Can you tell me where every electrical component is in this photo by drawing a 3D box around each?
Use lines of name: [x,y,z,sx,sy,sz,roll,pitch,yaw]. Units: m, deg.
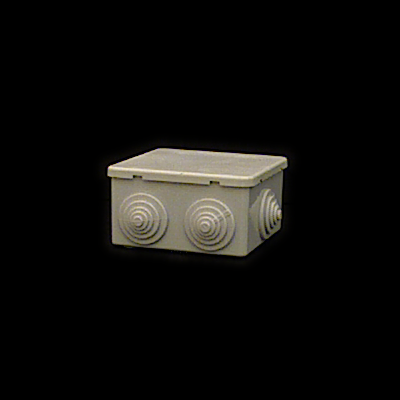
electrical component: [0.000,0.000,0.653,0.099,0.049,0.099,5,12,18]
